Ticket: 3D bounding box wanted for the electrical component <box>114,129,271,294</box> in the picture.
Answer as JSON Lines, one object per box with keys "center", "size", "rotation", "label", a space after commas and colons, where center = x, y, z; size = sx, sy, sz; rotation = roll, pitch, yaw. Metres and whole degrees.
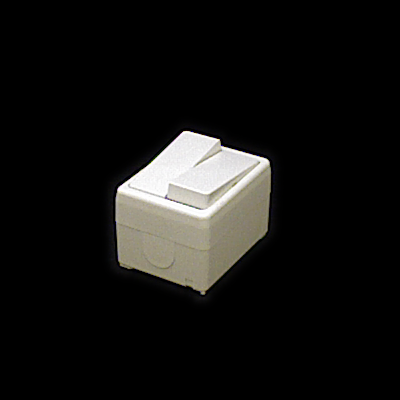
{"center": [0.000, 0.000, 0.636], "size": [0.061, 0.061, 0.095], "rotation": [18, 35, 26], "label": "electrical component"}
